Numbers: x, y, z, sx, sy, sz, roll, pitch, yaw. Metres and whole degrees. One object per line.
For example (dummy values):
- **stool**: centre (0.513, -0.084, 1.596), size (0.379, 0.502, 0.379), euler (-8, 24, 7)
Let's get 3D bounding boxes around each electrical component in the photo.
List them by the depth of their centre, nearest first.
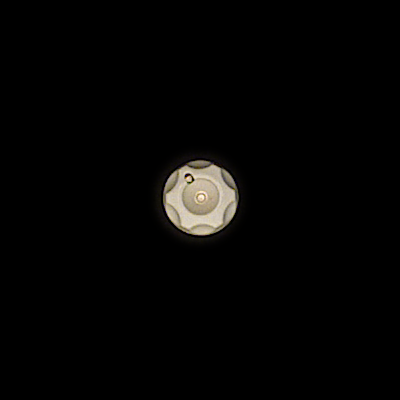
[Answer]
- **electrical component**: centre (0.000, 0.000, 0.635), size (0.043, 0.043, 0.062), euler (0, -5, 0)
